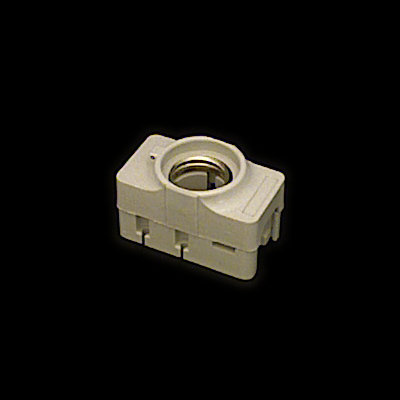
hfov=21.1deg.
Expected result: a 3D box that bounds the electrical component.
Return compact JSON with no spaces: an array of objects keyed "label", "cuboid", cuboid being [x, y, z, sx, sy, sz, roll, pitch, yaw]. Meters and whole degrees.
[{"label":"electrical component","cuboid":[0.000,0.000,0.640,0.089,0.056,0.050,18,45,17]}]
